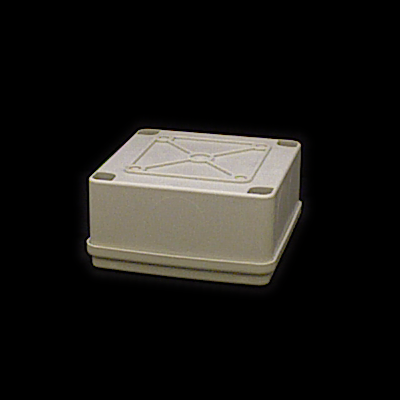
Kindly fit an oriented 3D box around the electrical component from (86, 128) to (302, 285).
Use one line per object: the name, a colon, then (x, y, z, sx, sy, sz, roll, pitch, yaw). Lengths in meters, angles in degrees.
electrical component: (0.000, 0.000, 0.637, 0.108, 0.057, 0.107, 5, 21, 13)
